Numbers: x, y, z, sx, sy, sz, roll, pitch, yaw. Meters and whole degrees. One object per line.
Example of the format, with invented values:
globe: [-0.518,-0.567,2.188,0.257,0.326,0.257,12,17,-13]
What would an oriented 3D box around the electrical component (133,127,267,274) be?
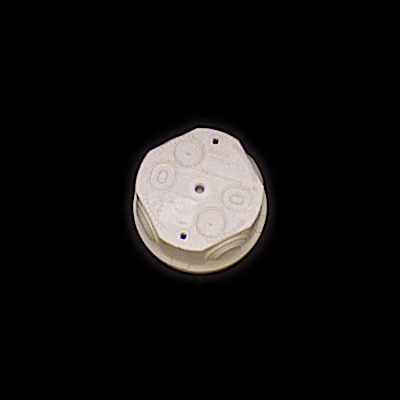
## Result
electrical component: [0.000,0.000,0.631,0.080,0.080,0.050,0,-16,0]
